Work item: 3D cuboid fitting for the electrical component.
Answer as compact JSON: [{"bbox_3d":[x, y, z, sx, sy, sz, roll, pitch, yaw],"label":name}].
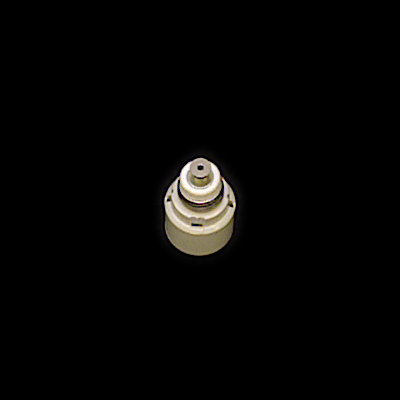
[{"bbox_3d":[0.000,0.000,0.618,0.040,0.040,0.078,0,-28,-1],"label":"electrical component"}]
